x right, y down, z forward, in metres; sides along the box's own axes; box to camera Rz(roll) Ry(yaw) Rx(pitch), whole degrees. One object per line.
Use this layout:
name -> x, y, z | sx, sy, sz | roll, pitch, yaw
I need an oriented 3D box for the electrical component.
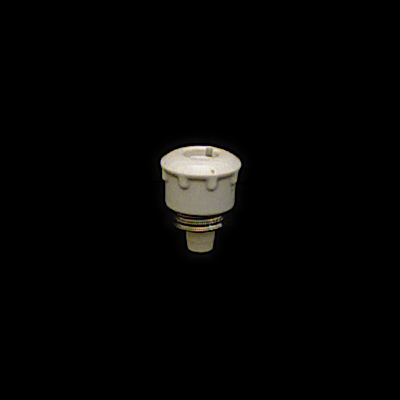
electrical component -> 0.000, 0.000, 0.647 | 0.048, 0.063, 0.047 | 1, 22, 0
